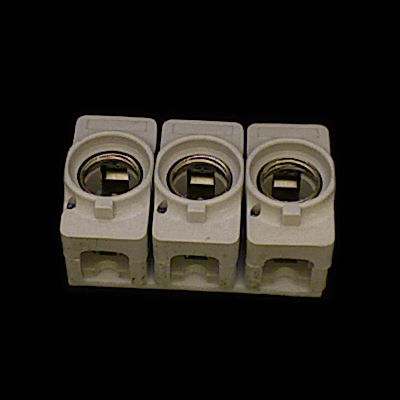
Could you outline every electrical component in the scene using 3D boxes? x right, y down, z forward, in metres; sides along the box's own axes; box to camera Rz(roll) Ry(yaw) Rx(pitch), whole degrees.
[{"bbox_3d":[0.000,0.000,0.633,0.150,0.088,0.062,2,-37,1],"label":"electrical component"}]
